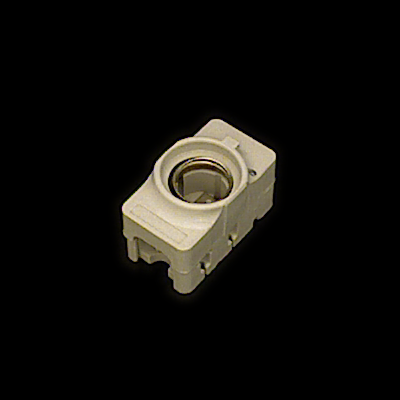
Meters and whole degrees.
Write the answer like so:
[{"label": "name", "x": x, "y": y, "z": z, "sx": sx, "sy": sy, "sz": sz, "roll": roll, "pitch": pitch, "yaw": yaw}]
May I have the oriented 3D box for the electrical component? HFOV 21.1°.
[{"label": "electrical component", "x": 0.000, "y": 0.000, "z": 0.637, "sx": 0.050, "sy": 0.090, "sz": 0.056, "roll": 32, "pitch": -31, "yaw": 21}]
